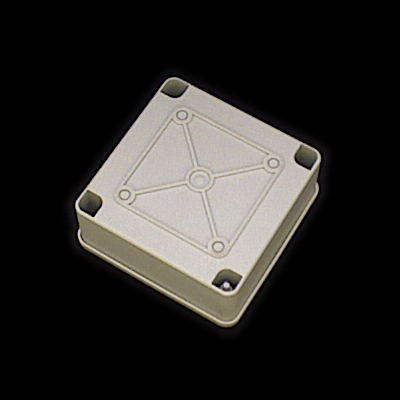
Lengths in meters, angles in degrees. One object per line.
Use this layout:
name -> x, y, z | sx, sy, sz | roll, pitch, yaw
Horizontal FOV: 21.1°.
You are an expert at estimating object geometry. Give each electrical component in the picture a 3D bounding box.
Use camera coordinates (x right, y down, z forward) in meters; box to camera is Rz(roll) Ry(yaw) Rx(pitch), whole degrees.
electrical component -> 0.000, 0.000, 0.627 | 0.108, 0.109, 0.056 | 29, -23, 13
